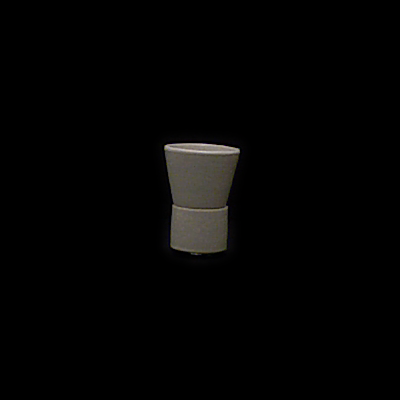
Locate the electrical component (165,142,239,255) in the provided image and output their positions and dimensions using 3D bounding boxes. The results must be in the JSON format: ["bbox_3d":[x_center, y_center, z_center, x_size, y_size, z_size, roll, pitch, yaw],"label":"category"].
[{"bbox_3d":[0.000,0.000,0.646,0.044,0.066,0.044,2,10,0],"label":"electrical component"}]
